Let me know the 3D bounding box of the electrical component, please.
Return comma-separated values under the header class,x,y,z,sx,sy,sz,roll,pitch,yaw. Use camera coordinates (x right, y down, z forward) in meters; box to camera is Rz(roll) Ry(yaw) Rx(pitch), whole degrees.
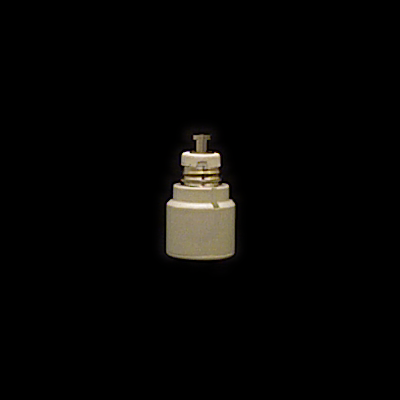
class,x,y,z,sx,sy,sz,roll,pitch,yaw
electrical component,0.000,0.000,0.641,0.040,0.079,0.040,0,11,0
